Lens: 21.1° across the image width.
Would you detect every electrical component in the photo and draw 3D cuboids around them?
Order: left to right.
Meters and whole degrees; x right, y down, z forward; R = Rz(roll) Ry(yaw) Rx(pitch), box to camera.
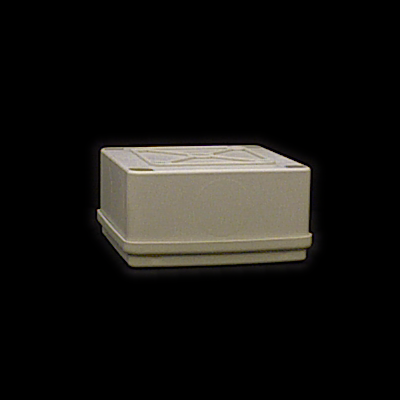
[{"bbox_3d":[0.000,0.000,0.641,0.109,0.056,0.107,-2,11,-14],"label":"electrical component"}]
